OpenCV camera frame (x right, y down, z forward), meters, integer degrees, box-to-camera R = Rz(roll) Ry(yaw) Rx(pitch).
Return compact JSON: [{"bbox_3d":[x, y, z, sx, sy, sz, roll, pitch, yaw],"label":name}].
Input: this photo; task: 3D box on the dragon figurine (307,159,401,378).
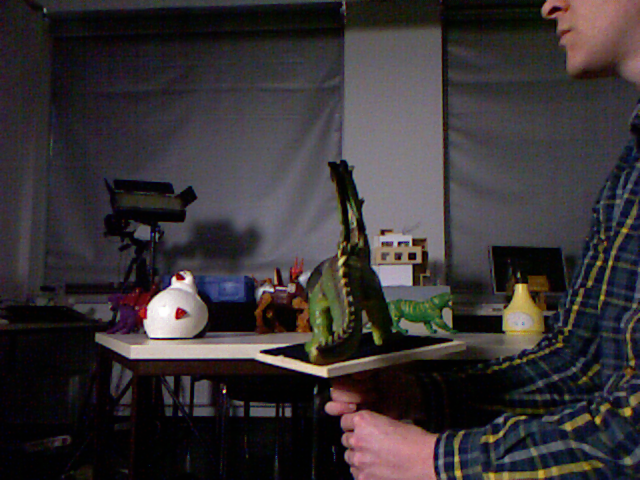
[{"bbox_3d":[0.035,0.015,0.671,0.122,0.244,0.410,-6,-2,4],"label":"dragon figurine"}]
